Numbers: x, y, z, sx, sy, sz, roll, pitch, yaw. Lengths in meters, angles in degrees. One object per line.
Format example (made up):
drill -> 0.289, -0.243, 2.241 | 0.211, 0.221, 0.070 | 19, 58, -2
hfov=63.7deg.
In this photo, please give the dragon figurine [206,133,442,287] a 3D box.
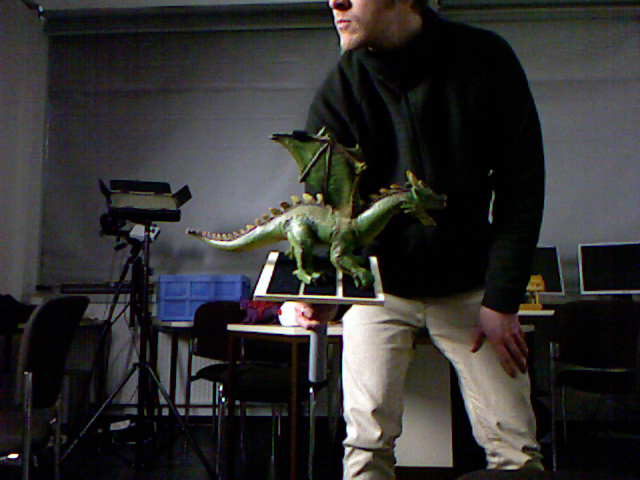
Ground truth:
dragon figurine -> -0.013, -0.059, 0.841 | 0.411, 0.239, 0.124 | 7, 25, 13
